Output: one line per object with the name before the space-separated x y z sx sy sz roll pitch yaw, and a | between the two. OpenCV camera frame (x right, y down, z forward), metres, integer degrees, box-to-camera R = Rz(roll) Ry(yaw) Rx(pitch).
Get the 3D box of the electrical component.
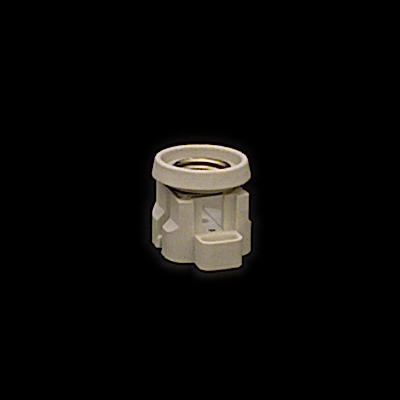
electrical component | 0.000 0.000 0.640 0.058 0.057 0.077 -7 22 -19
